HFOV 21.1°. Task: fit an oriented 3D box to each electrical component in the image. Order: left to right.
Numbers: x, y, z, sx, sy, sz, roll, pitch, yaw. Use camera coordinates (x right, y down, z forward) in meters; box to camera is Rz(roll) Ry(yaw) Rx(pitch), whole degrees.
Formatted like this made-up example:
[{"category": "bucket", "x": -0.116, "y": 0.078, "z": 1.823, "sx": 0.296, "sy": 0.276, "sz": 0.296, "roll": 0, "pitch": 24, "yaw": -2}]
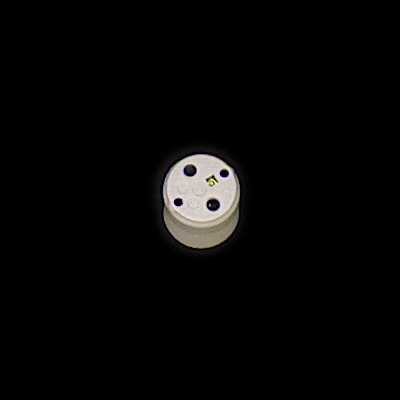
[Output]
[{"category": "electrical component", "x": 0.000, "y": 0.000, "z": 0.628, "sx": 0.045, "sy": 0.045, "sz": 0.055, "roll": 0, "pitch": -16, "yaw": 0}]
